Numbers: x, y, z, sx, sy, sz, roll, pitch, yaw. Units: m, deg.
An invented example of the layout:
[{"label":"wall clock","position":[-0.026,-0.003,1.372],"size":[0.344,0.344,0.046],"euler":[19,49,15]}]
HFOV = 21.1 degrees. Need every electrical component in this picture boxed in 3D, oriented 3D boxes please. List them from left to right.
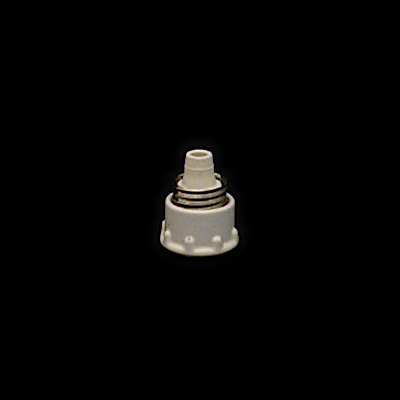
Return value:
[{"label":"electrical component","position":[0.000,0.000,0.644],"size":[0.048,0.063,0.047],"euler":[0,23,1]}]
